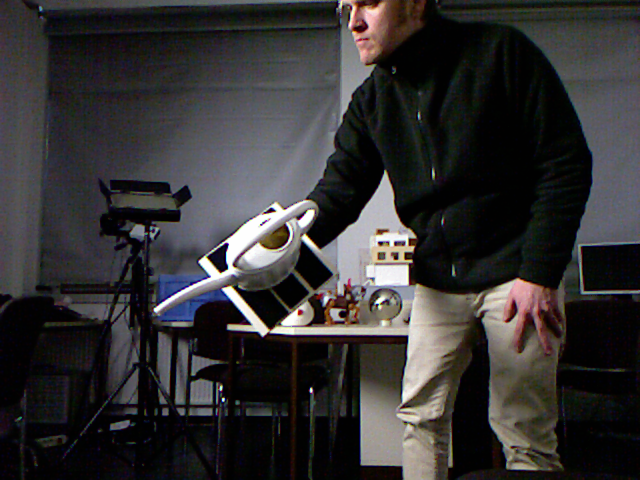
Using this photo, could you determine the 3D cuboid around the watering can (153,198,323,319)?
[{"bbox_3d":[-0.136,0.043,0.954,0.350,0.105,0.221,-36,-16,-13],"label":"watering can"}]
